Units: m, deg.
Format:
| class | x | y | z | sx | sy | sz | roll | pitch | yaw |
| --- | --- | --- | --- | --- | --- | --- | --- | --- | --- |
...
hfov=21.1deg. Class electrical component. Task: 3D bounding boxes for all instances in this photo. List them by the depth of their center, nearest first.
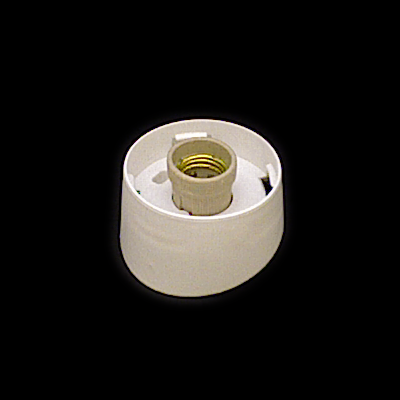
| class | x | y | z | sx | sy | sz | roll | pitch | yaw |
| --- | --- | --- | --- | --- | --- | --- | --- | --- | --- |
| electrical component | 0.000 | 0.000 | 0.630 | 0.099 | 0.065 | 0.098 | 0 | 42 | 0 |
